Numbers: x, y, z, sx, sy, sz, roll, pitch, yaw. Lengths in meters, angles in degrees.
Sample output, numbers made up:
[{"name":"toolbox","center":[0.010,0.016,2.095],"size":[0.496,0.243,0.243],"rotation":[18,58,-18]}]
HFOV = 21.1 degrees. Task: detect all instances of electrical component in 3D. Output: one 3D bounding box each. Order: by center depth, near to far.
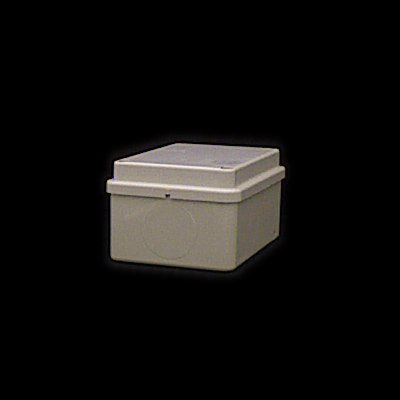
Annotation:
[{"name":"electrical component","center":[0.000,0.000,0.643],"size":[0.078,0.057,0.112],"rotation":[5,11,18]}]
